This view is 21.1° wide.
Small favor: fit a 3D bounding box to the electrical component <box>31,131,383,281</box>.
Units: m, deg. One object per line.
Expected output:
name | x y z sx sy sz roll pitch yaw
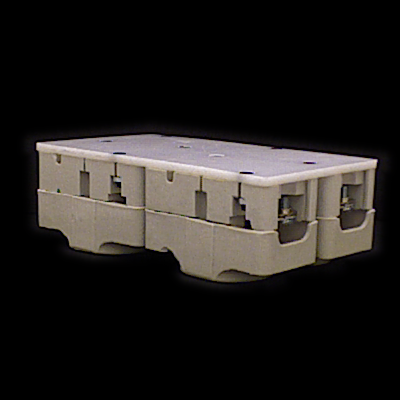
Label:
electrical component | 0.000 0.000 0.644 0.185 0.061 0.105 10 14 41
